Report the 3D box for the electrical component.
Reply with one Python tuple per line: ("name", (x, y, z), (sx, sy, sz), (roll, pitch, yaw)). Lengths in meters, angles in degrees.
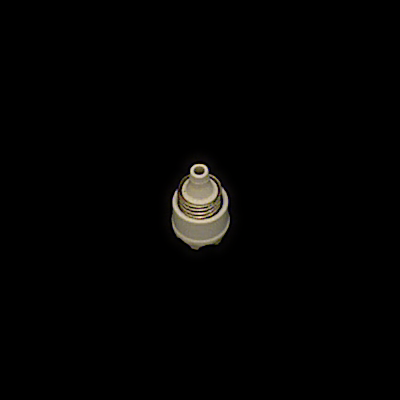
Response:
("electrical component", (0.000, 0.000, 0.640), (0.035, 0.035, 0.062), (0, -36, 1))
